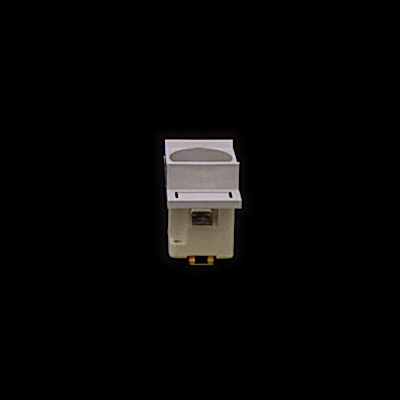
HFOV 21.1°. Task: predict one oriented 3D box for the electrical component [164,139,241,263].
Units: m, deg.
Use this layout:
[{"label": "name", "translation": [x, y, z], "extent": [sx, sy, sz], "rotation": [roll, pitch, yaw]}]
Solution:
[{"label": "electrical component", "translation": [0.000, 0.000, 0.640], "extent": [0.042, 0.064, 0.079], "rotation": [-1, 21, -3]}]
